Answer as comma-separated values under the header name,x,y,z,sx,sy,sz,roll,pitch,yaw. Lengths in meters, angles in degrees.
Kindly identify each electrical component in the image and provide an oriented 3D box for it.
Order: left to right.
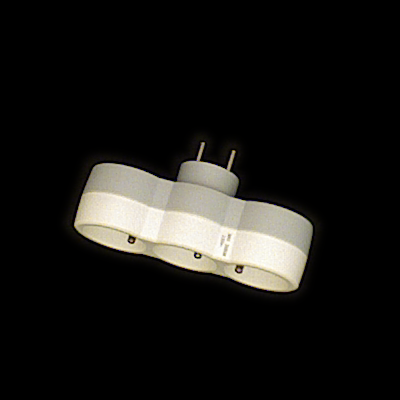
name,x,y,z,sx,sy,sz,roll,pitch,yaw
electrical component,0.000,0.000,0.639,0.138,0.074,0.052,15,-17,4
